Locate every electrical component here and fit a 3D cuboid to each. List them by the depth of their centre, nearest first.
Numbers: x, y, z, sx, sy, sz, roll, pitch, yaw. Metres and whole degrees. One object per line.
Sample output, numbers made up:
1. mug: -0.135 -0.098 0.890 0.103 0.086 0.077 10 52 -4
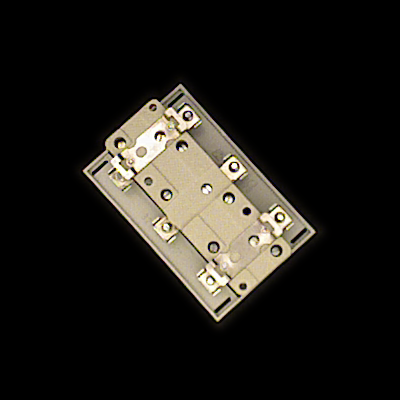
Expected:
1. electrical component: 0.000 0.000 0.634 0.079 0.121 0.063 -42 -5 -3
